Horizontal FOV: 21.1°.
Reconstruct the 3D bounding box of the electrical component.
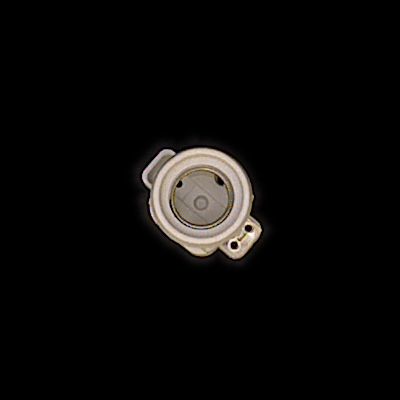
[{"bbox_3d":[0.000,0.000,0.630,0.078,0.058,0.056,40,-5,4],"label":"electrical component"}]
